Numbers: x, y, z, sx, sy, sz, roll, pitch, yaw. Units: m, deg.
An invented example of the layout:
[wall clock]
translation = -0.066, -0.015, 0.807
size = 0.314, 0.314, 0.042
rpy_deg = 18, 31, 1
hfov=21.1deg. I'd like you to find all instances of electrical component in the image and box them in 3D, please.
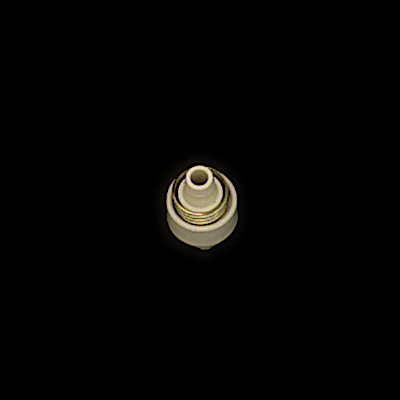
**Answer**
[electrical component]
translation = 0.000, 0.000, 0.634
size = 0.043, 0.043, 0.062
rpy_deg = 0, -26, 2
